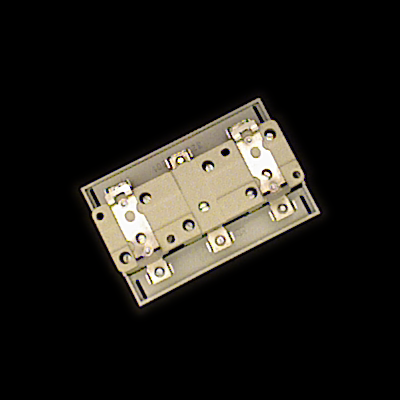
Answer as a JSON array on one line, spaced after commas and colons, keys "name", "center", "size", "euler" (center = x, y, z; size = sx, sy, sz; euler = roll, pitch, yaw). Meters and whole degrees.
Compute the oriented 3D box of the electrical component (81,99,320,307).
[{"name": "electrical component", "center": [0.000, 0.000, 0.635], "size": [0.122, 0.079, 0.063], "euler": [-27, -6, -3]}]
